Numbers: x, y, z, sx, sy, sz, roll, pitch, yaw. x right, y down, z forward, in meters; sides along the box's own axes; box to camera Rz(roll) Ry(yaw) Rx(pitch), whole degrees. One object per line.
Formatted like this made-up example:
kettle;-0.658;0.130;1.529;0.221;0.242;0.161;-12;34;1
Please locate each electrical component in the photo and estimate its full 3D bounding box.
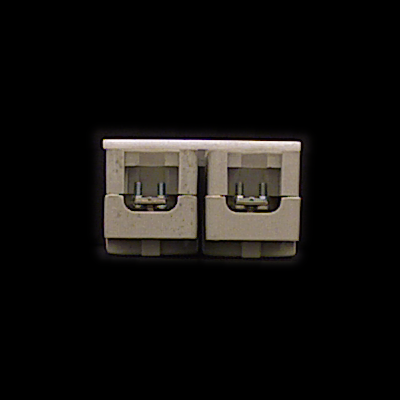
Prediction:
electrical component;0.000;0.000;0.649;0.105;0.060;0.186;1;-1;0
